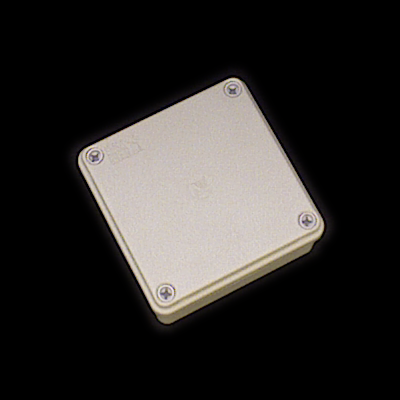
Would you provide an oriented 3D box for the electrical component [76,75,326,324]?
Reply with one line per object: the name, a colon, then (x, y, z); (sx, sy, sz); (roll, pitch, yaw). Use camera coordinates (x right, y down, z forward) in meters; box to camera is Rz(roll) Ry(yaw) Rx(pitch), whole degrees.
electrical component: (0.000, 0.000, 0.629); (0.109, 0.109, 0.056); (-27, -14, -8)
